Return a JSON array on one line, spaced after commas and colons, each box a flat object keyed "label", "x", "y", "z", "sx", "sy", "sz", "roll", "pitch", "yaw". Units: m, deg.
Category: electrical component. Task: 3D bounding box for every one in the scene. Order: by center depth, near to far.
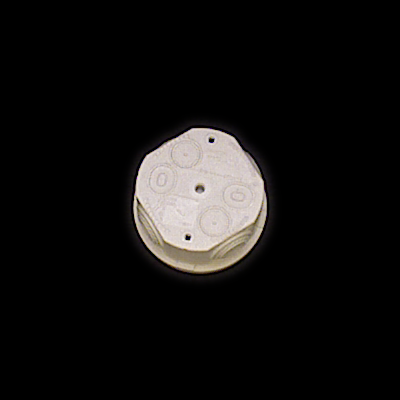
[{"label": "electrical component", "x": 0.000, "y": 0.000, "z": 0.631, "sx": 0.080, "sy": 0.080, "sz": 0.050, "roll": 0, "pitch": -16, "yaw": 0}]
